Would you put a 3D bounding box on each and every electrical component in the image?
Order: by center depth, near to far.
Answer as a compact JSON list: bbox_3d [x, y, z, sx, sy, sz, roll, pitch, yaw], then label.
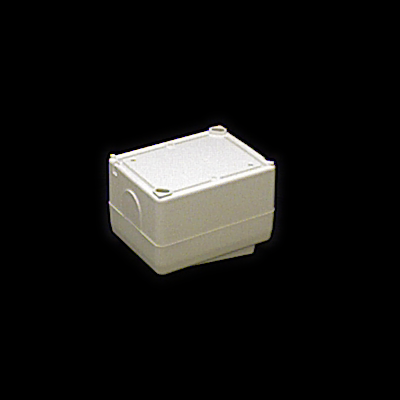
[{"bbox_3d":[0.001,0.000,0.639,0.096,0.062,0.061,-17,35,-27],"label":"electrical component"}]
